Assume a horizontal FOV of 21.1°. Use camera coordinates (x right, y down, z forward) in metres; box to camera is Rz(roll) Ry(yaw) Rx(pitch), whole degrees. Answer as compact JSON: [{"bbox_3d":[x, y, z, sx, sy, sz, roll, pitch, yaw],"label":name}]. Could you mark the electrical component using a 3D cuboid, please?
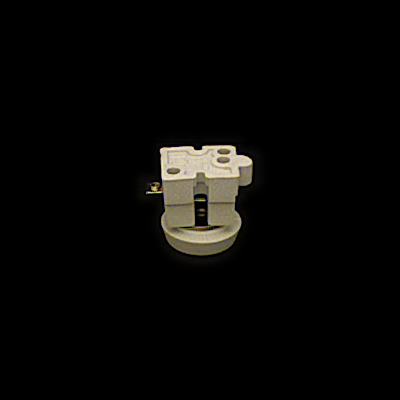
[{"bbox_3d":[0.000,0.000,0.644,0.066,0.056,0.048,-2,34,-3],"label":"electrical component"}]
